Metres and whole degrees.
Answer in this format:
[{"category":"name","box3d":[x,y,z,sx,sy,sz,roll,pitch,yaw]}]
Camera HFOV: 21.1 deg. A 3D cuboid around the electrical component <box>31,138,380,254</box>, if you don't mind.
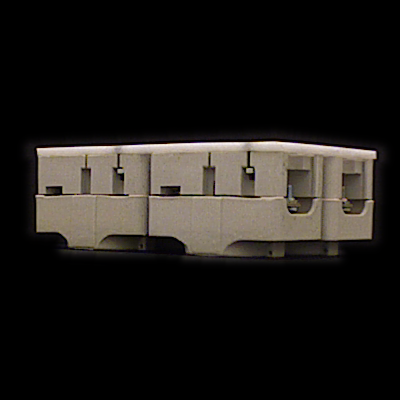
[{"category":"electrical component","box3d":[0.000,0.000,0.649,0.186,0.060,0.106,1,-1,40]}]
